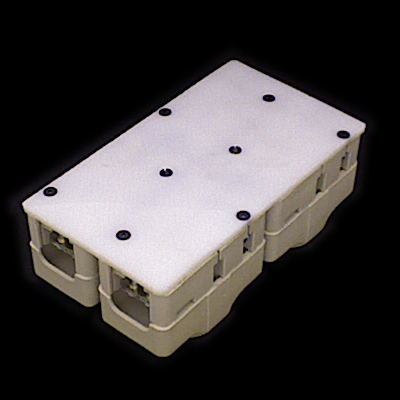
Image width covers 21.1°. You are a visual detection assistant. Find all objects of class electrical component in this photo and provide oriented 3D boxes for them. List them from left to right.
[{"bbox_3d":[0.000,0.000,0.630,0.105,0.061,0.185,30,50,29],"label":"electrical component"}]
